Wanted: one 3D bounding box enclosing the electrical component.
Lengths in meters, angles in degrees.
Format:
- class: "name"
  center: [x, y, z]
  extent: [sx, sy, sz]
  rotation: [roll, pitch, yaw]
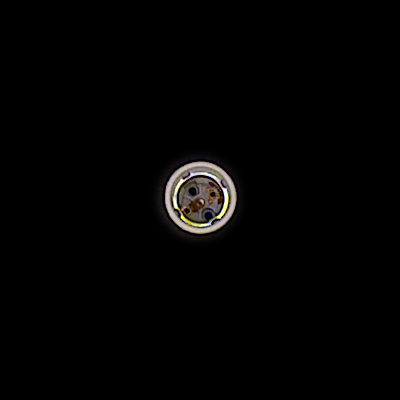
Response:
- class: "electrical component"
  center: [0.000, 0.000, 0.627]
  extent: [0.040, 0.040, 0.046]
  rotation: [0, -6, 0]
